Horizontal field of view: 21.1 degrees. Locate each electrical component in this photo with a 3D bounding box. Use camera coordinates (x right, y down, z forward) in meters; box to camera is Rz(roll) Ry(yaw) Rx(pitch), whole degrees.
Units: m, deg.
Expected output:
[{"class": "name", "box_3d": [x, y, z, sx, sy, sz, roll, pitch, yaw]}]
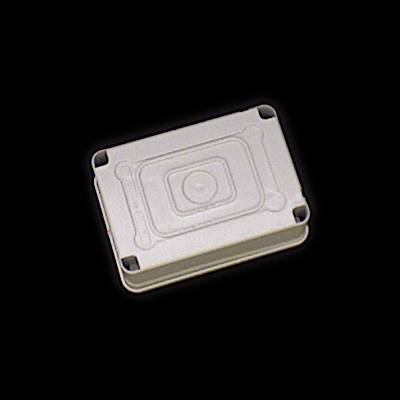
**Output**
[{"class": "electrical component", "box_3d": [0.000, 0.000, 0.628, 0.113, 0.078, 0.057, -16, -16, -5]}]
